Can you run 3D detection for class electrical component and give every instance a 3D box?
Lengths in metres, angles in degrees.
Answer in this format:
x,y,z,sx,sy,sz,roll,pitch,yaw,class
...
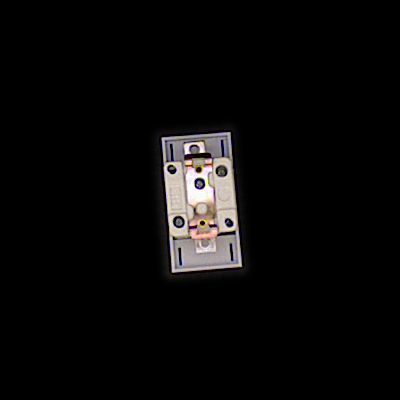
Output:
x,y,z,sx,sy,sz,roll,pitch,yaw,class
0.000,0.000,0.626,0.042,0.081,0.063,-5,-7,0,electrical component
